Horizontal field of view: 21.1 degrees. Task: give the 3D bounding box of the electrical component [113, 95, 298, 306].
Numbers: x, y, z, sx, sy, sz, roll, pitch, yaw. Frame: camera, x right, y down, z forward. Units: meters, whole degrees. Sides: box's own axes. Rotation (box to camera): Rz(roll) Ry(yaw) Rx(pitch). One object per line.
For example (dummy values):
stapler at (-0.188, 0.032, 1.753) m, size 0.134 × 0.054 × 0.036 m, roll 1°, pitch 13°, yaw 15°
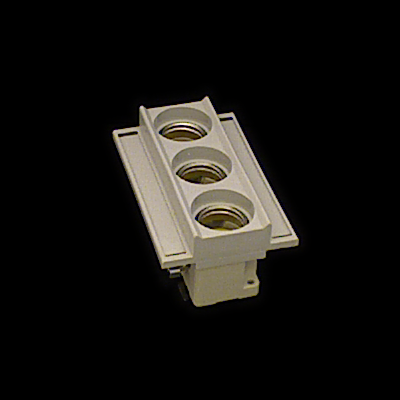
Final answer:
electrical component at (0.000, 0.000, 0.643) m, size 0.079 × 0.064 × 0.119 m, roll -10°, pitch 43°, yaw -13°
